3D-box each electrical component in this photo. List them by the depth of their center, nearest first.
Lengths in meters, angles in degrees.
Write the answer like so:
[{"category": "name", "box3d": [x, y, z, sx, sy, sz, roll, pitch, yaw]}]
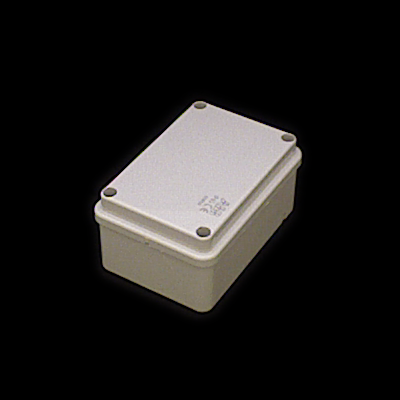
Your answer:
[{"category": "electrical component", "box3d": [0.000, 0.000, 0.630, 0.078, 0.057, 0.112, 23, 46, 22]}]
